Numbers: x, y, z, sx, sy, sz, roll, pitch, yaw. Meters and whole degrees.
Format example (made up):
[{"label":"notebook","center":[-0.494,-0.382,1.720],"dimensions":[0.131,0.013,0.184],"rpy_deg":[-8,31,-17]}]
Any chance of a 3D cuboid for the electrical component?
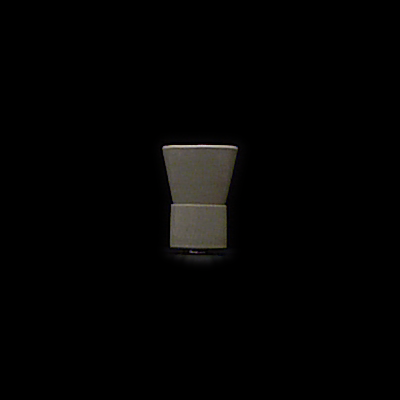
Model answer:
[{"label":"electrical component","center":[0.000,0.000,0.647],"dimensions":[0.044,0.065,0.044],"rpy_deg":[1,2,0]}]
